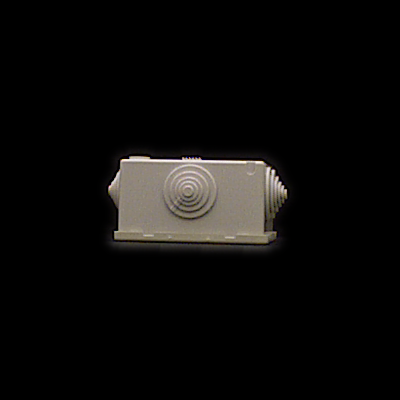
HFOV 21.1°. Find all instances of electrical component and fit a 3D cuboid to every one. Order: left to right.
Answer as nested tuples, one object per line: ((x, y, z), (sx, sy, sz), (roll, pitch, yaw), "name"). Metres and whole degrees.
((0.000, 0.000, 0.648), (0.099, 0.048, 0.100), (1, 0, 7), "electrical component")
